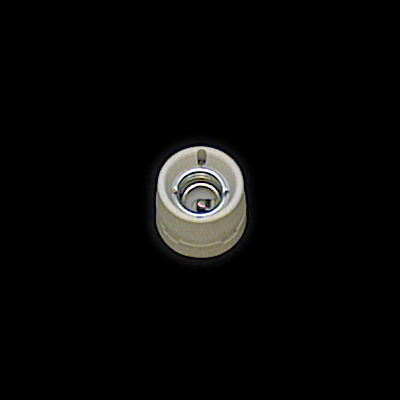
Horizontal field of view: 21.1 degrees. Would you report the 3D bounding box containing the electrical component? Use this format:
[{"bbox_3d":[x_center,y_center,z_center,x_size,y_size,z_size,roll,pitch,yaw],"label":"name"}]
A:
[{"bbox_3d":[0.000,0.000,0.632,0.055,0.056,0.047,0,-26,1],"label":"electrical component"}]
